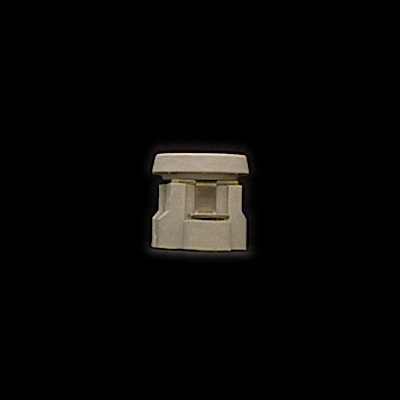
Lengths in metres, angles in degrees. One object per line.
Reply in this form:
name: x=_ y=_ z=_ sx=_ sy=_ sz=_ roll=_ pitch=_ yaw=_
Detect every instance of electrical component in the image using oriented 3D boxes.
electrical component: x=0.000 y=0.000 z=0.648 sx=0.058 sy=0.057 sz=0.078 roll=1 pitch=0 yaw=-10
